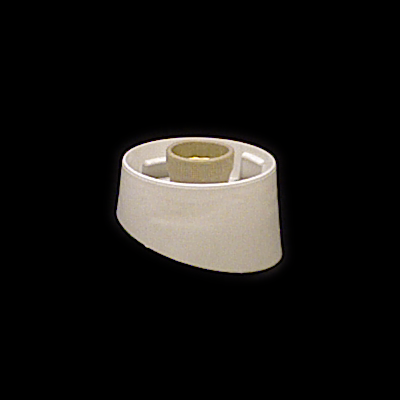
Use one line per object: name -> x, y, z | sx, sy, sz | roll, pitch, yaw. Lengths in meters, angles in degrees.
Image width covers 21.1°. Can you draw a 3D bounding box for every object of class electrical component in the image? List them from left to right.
electrical component -> 0.000, 0.000, 0.637 | 0.099, 0.065, 0.097 | 2, 21, 0
